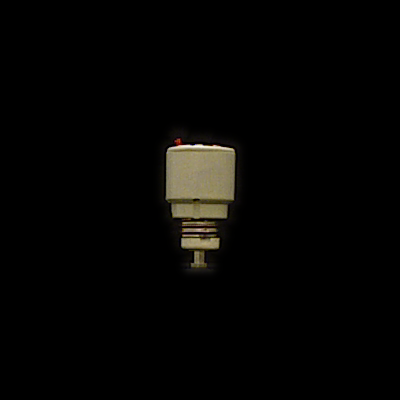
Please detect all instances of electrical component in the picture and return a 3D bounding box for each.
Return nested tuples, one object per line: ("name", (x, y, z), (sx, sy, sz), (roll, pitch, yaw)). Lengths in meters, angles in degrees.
("electrical component", (0.000, 0.000, 0.650), (0.040, 0.078, 0.040), (1, 1, 0))
